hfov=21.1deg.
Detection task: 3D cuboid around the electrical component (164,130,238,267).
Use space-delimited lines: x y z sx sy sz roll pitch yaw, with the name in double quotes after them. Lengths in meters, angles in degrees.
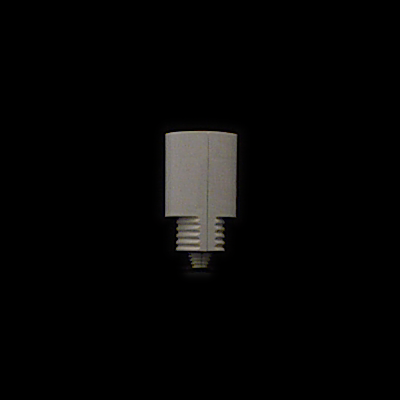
0.000 0.000 0.650 0.043 0.081 0.043 2 0 0 "electrical component"
